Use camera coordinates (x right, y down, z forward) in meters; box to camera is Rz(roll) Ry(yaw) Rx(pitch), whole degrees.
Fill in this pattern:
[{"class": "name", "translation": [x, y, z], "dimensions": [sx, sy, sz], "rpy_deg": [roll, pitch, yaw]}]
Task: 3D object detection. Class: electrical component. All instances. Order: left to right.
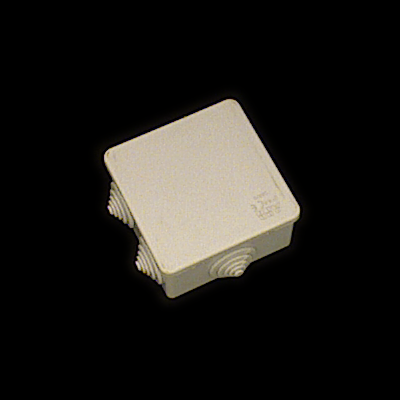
[{"class": "electrical component", "translation": [0.000, 0.000, 0.640], "dimensions": [0.100, 0.099, 0.048], "rpy_deg": [-23, -24, -11]}]
